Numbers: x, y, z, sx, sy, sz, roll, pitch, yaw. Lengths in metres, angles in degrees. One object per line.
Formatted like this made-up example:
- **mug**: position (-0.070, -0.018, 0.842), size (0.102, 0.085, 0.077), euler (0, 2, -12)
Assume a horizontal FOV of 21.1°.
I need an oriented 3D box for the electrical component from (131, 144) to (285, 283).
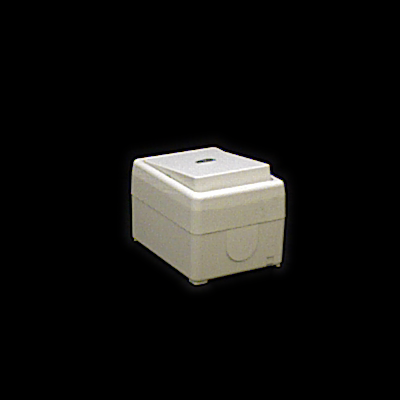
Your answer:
- **electrical component**: position (0.000, 0.000, 0.641), size (0.062, 0.061, 0.095), euler (-11, 24, -29)
